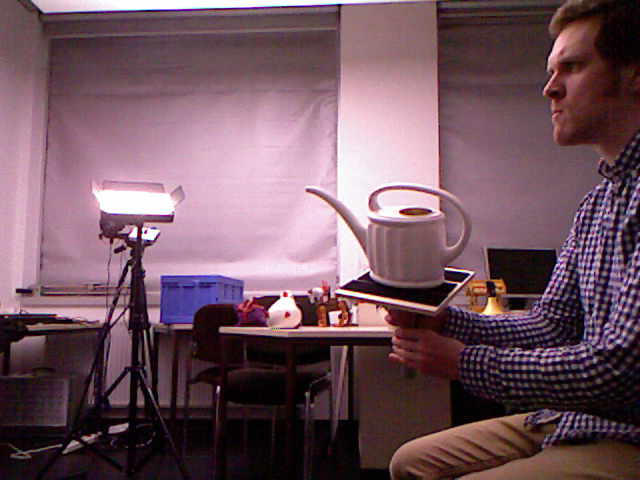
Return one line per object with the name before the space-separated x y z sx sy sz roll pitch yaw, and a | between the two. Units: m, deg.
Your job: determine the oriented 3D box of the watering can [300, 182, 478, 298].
watering can | 0.125 -0.007 0.996 0.349 0.221 0.106 7 22 26
